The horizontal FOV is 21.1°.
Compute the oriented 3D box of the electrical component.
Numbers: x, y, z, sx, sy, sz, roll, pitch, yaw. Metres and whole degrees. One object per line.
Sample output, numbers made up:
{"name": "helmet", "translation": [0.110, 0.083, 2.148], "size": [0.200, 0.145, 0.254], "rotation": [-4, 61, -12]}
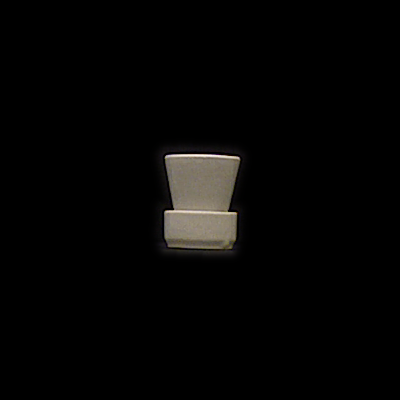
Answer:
{"name": "electrical component", "translation": [0.000, 0.000, 0.652], "size": [0.045, 0.055, 0.045], "rotation": [2, 1, 0]}
